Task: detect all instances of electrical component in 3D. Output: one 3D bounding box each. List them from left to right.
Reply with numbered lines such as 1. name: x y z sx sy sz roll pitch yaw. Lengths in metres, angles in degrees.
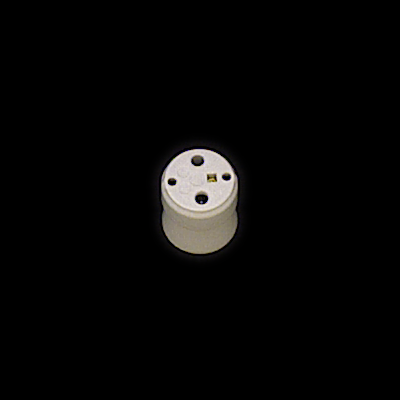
1. electrical component: 0.000 0.000 0.628 0.045 0.045 0.055 0 -26 0
